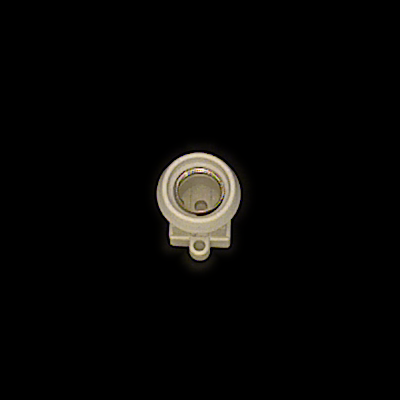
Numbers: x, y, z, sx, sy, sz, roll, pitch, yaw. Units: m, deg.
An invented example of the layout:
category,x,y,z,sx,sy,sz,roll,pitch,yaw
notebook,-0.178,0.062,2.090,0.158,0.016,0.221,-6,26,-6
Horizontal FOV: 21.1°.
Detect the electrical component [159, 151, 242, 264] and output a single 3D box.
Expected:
category,x,y,z,sx,sy,sz,roll,pitch,yaw
electrical component,0.000,0.000,0.637,0.048,0.067,0.055,1,-16,-1
